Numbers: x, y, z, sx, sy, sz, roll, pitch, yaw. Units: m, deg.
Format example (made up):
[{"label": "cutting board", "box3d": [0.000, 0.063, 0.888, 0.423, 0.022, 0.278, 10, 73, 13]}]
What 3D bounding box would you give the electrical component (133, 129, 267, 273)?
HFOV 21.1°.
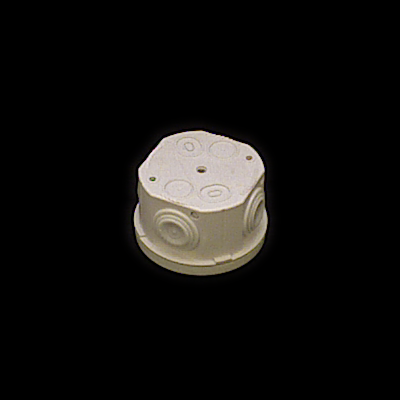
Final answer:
[{"label": "electrical component", "box3d": [0.000, 0.000, 0.635, 0.080, 0.051, 0.079, 1, 42, -1]}]
